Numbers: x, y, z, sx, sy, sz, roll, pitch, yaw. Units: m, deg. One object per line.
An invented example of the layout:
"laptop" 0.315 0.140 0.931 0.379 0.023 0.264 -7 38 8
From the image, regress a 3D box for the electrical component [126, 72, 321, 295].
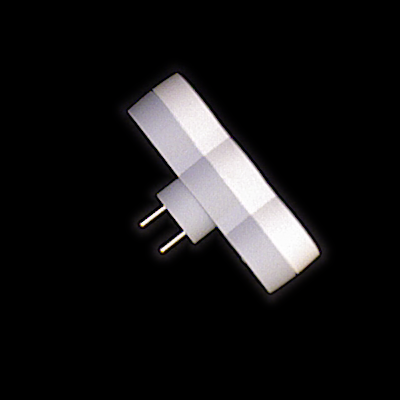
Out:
"electrical component" 0.000 0.000 0.631 0.074 0.138 0.052 -38 -4 -2
